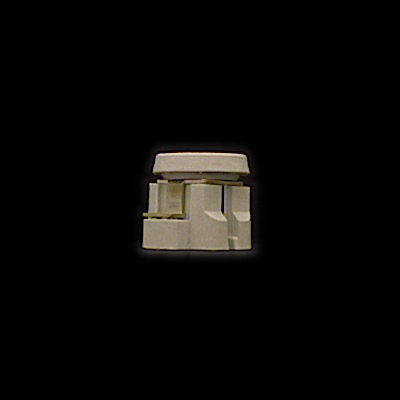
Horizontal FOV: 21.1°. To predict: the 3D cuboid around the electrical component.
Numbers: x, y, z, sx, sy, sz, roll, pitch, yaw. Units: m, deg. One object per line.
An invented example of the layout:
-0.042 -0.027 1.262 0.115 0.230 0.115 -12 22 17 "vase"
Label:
0.000 0.000 0.648 0.057 0.057 0.079 2 1 40 "electrical component"
